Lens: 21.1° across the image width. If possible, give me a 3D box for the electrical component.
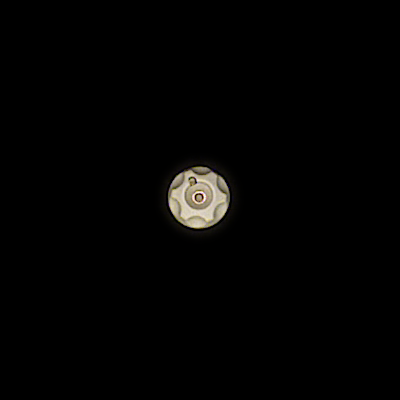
[{"bbox_3d":[0.000,0.000,0.635,0.035,0.035,0.061,0,-6,1],"label":"electrical component"}]
